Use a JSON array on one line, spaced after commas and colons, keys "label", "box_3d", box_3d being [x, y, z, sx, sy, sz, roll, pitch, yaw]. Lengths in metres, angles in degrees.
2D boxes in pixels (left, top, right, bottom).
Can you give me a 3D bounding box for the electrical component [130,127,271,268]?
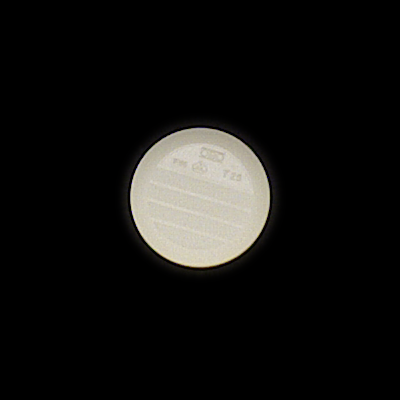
[{"label": "electrical component", "box_3d": [0.000, 0.000, 0.631, 0.080, 0.080, 0.050, 0, -6, 0]}]
